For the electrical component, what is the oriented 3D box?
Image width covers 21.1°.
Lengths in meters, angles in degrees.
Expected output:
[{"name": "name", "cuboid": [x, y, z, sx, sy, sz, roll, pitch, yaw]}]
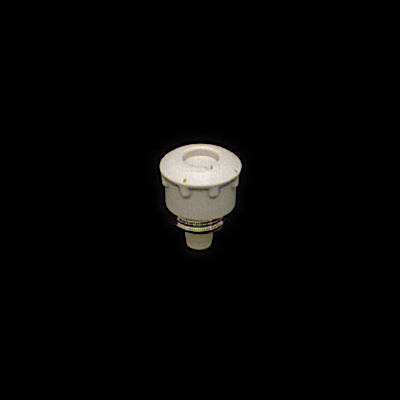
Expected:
[{"name": "electrical component", "cuboid": [0.000, 0.000, 0.642, 0.048, 0.063, 0.047, 1, 32, 0]}]
